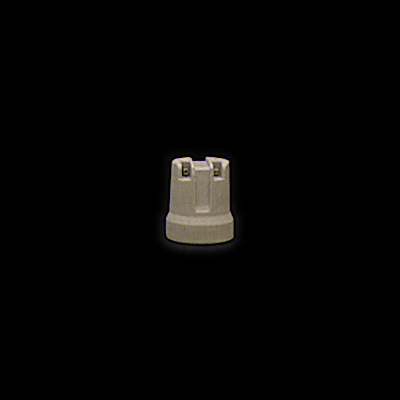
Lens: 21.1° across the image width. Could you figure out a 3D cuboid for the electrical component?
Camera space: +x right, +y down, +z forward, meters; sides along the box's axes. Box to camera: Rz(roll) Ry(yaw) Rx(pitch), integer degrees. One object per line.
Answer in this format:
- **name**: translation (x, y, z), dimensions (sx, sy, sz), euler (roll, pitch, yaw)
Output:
- **electrical component**: translation (0.000, 0.000, 0.645), dimensions (0.040, 0.046, 0.040), euler (1, 11, 0)
